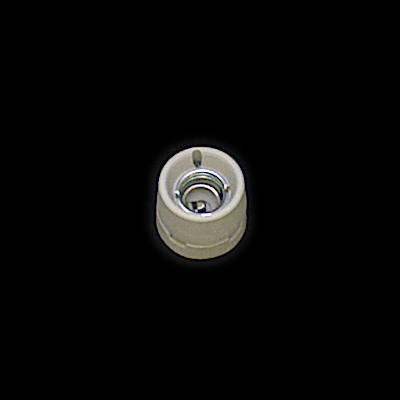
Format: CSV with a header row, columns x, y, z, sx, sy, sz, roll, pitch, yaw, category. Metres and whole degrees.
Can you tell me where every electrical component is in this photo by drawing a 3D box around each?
x,y,z,sx,sy,sz,roll,pitch,yaw,category
0.000,0.000,0.633,0.055,0.055,0.047,0,-28,0,electrical component
